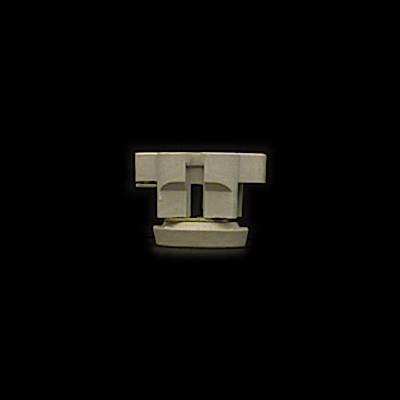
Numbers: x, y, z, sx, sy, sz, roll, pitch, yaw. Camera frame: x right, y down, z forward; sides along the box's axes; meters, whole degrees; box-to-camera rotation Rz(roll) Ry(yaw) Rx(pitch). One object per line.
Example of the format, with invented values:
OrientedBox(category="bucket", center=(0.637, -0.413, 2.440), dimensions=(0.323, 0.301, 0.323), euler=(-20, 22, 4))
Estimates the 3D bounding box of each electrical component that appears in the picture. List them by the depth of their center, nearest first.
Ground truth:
OrientedBox(category="electrical component", center=(0.000, 0.000, 0.655), dimensions=(0.078, 0.057, 0.058), euler=(0, 2, 6))
